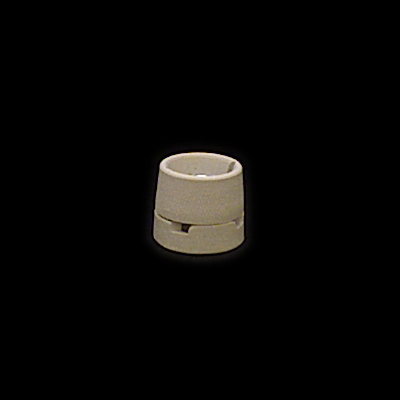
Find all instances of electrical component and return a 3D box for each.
[{"bbox_3d":[0.000,0.000,0.642,0.055,0.047,0.055,2,21,-1],"label":"electrical component"}]
